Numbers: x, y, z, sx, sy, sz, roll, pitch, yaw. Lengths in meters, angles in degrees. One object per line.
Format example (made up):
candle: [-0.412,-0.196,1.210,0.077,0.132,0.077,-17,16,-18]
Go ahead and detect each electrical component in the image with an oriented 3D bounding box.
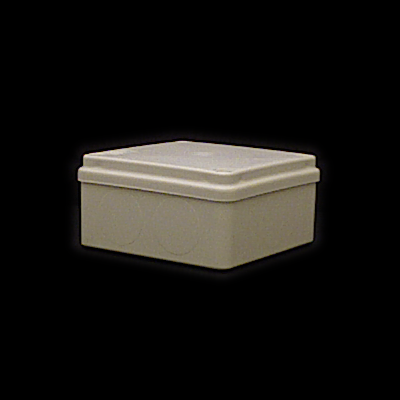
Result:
electrical component: [0.000,0.000,0.645,0.108,0.056,0.108,9,13,33]
